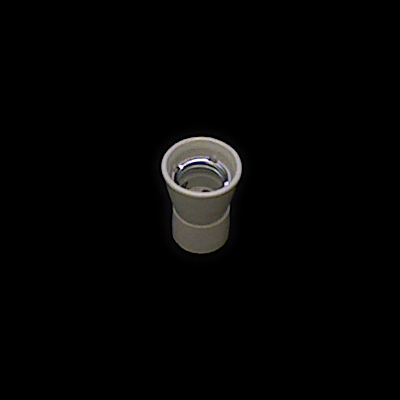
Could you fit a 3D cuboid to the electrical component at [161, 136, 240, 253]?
[{"bbox_3d":[0.000,0.000,0.628,0.044,0.044,0.065,0,-39,0],"label":"electrical component"}]
